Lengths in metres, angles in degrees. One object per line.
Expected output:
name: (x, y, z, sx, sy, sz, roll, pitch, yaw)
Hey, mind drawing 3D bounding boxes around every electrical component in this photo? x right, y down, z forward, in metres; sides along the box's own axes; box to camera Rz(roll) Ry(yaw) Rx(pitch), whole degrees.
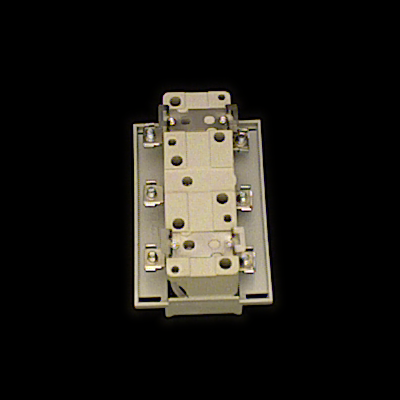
electrical component: (0.000, 0.000, 0.634, 0.079, 0.121, 0.063, -2, -26, -2)
